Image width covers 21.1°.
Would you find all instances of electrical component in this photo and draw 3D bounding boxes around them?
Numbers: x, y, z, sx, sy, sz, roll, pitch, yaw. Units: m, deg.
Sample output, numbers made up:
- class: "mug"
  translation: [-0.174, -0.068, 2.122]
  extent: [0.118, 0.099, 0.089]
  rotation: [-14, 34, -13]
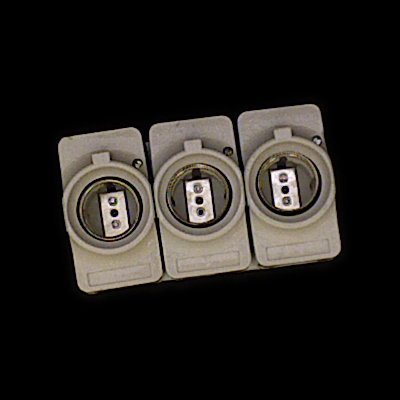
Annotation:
- class: "electrical component"
  translation: [0.000, 0.000, 0.632]
  extent: [0.150, 0.089, 0.061]
  rotation: [-8, -7, -1]
